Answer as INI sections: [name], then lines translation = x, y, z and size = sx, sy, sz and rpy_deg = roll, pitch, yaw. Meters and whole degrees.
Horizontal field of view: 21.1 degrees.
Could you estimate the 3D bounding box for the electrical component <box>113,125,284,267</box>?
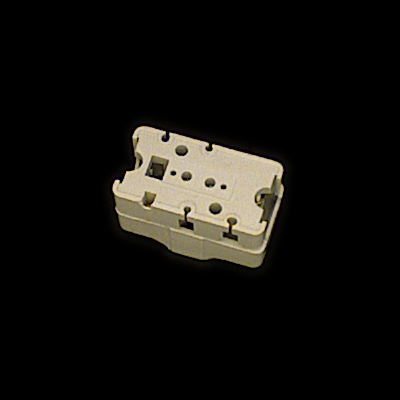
[electrical component]
translation = 0.000, 0.000, 0.636
size = 0.089, 0.050, 0.055
rpy_deg = 15, -25, 8
